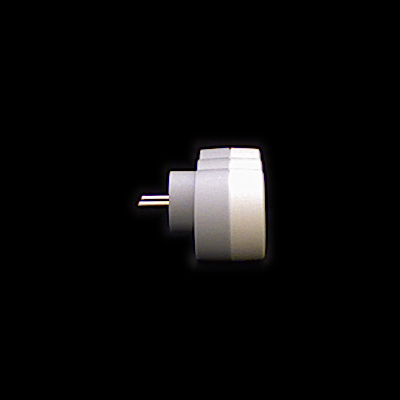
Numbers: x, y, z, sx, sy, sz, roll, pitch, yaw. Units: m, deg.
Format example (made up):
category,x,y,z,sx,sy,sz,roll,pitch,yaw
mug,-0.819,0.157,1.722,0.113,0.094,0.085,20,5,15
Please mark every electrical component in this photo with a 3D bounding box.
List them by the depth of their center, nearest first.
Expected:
category,x,y,z,sx,sy,sz,roll,pitch,yaw
electrical component,0.000,0.000,0.642,0.074,0.052,0.137,-1,11,2
